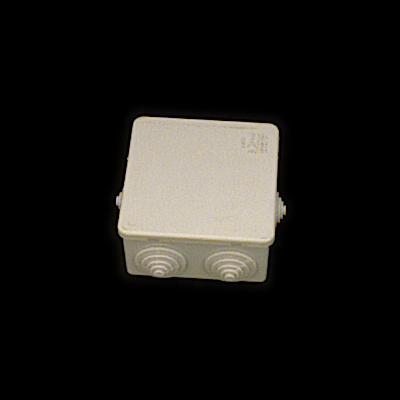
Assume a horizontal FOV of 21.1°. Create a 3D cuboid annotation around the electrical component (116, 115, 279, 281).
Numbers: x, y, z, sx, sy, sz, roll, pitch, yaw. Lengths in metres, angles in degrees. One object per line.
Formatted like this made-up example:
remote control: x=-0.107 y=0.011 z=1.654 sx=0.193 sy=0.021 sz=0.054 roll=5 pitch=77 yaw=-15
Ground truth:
electrical component: x=0.000 y=0.000 z=0.641 sx=0.100 sy=0.099 sz=0.049 roll=4 pitch=-37 yaw=2
